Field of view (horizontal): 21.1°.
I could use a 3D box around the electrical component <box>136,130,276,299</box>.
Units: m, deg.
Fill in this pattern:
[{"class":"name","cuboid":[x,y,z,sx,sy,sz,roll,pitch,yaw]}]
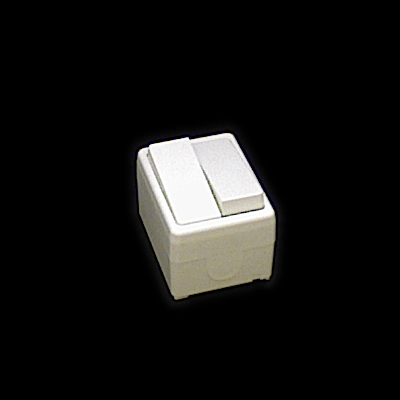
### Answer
[{"class":"electrical component","cuboid":[0.000,0.000,0.633,0.062,0.061,0.095,-11,43,-13]}]
